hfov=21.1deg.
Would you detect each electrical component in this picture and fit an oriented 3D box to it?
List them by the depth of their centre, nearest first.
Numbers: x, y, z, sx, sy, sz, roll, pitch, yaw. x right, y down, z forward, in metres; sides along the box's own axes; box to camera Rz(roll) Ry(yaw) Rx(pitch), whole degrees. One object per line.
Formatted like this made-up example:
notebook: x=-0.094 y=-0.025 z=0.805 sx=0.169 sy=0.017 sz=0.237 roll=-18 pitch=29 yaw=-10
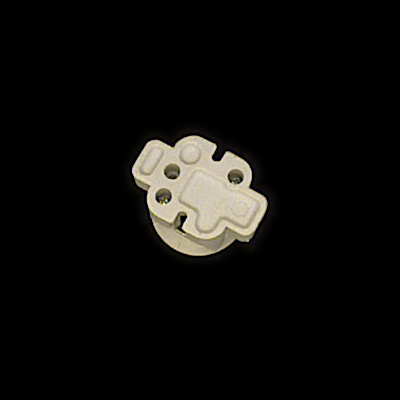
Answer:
electrical component: x=0.000 y=0.000 z=0.636 sx=0.078 sy=0.058 sz=0.056 roll=27 pitch=-15 yaw=6
